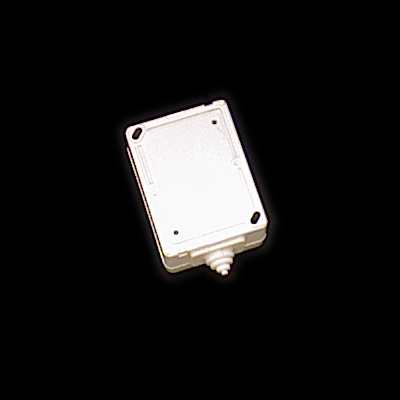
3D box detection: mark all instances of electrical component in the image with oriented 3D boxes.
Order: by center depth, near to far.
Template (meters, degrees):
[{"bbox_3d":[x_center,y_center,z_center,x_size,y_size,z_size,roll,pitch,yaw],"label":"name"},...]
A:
[{"bbox_3d":[0.000,0.000,0.627,0.062,0.096,0.060,-17,-15,-5],"label":"electrical component"}]
